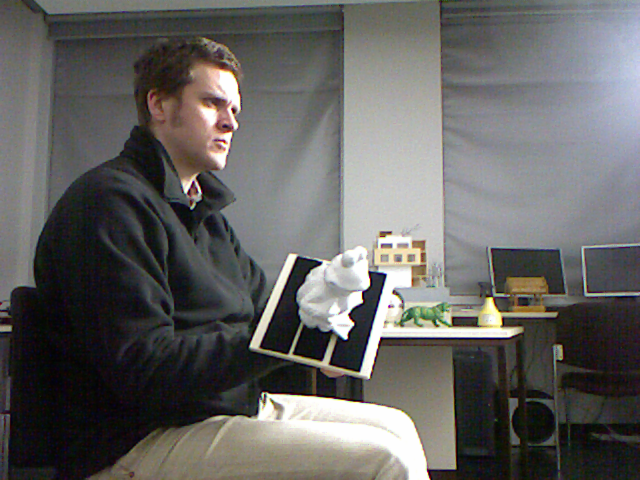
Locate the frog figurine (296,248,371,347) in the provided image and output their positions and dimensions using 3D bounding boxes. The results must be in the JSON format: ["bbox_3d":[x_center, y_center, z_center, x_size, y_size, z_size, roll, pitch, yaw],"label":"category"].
[{"bbox_3d":[0.019,0.073,0.812,0.124,0.140,0.156,30,-30,27],"label":"frog figurine"}]
